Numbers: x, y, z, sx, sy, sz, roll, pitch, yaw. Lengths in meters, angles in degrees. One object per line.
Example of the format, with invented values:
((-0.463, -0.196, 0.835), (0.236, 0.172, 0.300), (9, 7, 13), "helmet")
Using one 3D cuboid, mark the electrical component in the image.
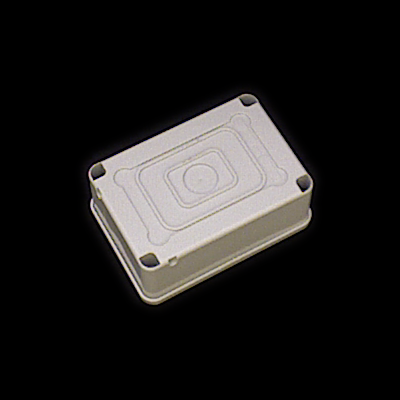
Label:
((0.000, 0.000, 0.628), (0.113, 0.078, 0.057), (-26, -24, -13), "electrical component")
